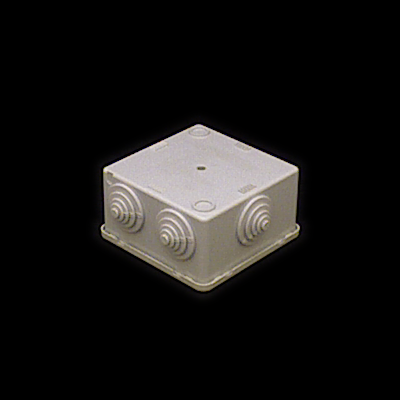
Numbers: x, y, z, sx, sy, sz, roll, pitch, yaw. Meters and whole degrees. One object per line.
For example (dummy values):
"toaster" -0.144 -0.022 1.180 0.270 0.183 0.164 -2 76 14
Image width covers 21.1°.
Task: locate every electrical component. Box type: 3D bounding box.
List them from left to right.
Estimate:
"electrical component" 0.000 0.000 0.637 0.099 0.049 0.099 27 40 35
